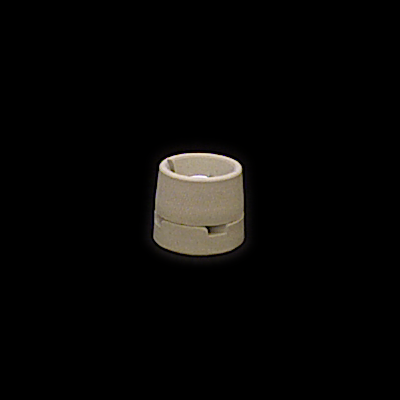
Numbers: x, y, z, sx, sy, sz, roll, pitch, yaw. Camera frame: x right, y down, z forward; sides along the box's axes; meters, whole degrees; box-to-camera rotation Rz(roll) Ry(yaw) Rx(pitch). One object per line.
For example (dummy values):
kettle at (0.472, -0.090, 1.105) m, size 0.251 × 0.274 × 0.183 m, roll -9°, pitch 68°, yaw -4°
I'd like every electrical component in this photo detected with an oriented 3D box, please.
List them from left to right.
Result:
electrical component at (0.000, 0.000, 0.641) m, size 0.055 × 0.047 × 0.055 m, roll 2°, pitch 22°, yaw -1°
